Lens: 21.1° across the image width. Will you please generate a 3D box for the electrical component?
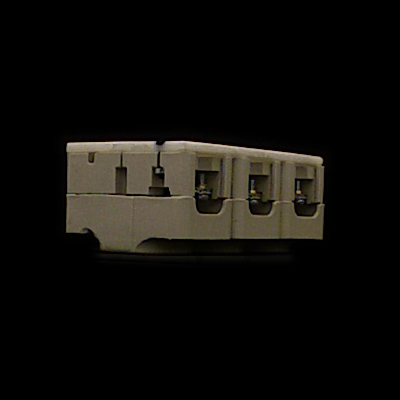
[{"bbox_3d":[0.000,0.000,0.661,0.089,0.062,0.150,2,-1,37],"label":"electrical component"}]
